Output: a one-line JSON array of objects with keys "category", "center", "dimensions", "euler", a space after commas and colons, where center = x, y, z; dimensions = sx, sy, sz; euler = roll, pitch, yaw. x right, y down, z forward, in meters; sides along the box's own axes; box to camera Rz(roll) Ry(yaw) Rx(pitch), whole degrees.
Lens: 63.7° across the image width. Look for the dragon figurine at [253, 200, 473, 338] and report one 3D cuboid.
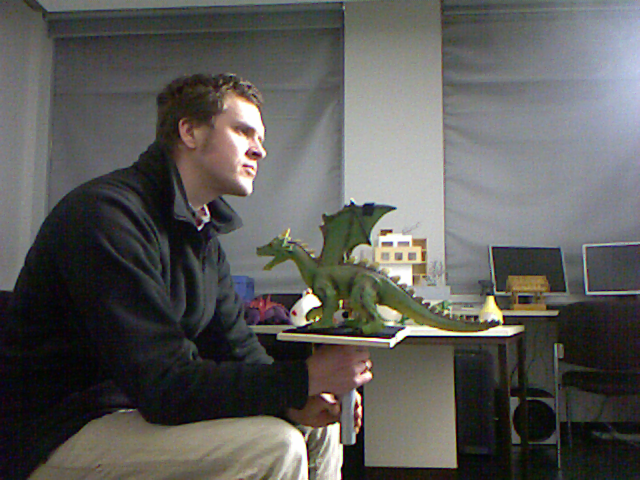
[{"category": "dragon figurine", "center": [0.067, 0.046, 0.956], "dimensions": [0.410, 0.243, 0.122], "euler": [-3, -2, 21]}]
